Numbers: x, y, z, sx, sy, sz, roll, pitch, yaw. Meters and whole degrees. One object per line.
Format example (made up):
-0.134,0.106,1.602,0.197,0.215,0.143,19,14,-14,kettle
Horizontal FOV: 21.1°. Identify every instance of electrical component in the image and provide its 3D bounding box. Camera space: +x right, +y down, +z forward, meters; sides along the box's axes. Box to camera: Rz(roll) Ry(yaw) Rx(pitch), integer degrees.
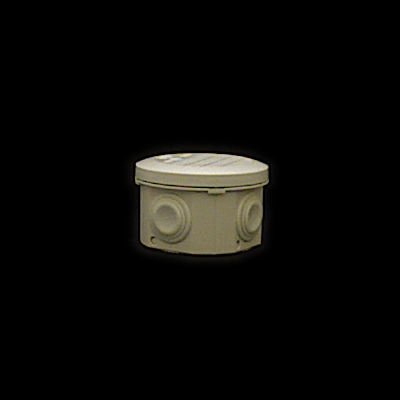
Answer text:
0.000,0.000,0.648,0.080,0.051,0.079,1,10,0,electrical component
